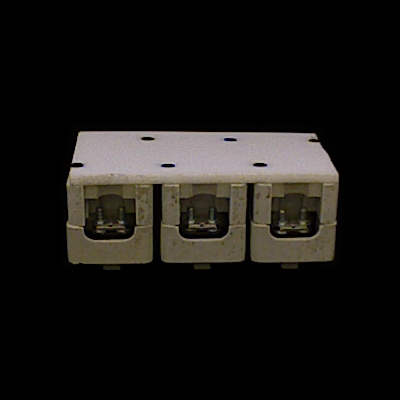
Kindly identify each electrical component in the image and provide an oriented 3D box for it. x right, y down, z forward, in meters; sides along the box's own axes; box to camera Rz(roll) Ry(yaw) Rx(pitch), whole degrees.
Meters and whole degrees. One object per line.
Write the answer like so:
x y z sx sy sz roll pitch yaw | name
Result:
0.000 0.000 0.643 0.150 0.063 0.088 0 20 -3 | electrical component
